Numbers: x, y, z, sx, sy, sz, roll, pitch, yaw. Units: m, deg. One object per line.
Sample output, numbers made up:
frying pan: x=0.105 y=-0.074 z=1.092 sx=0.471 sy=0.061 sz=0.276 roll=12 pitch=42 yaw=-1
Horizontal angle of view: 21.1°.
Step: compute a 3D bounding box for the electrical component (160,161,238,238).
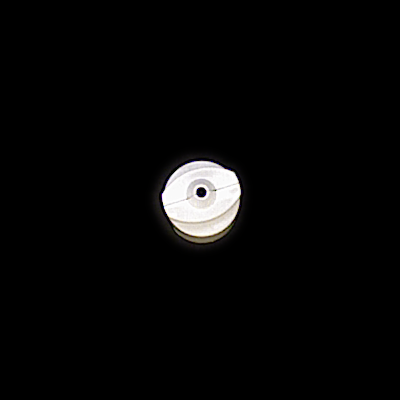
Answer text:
electrical component: x=0.000 y=0.000 z=0.616 sx=0.043 sy=0.043 sz=0.080 roll=0 pitch=-6 yaw=1
